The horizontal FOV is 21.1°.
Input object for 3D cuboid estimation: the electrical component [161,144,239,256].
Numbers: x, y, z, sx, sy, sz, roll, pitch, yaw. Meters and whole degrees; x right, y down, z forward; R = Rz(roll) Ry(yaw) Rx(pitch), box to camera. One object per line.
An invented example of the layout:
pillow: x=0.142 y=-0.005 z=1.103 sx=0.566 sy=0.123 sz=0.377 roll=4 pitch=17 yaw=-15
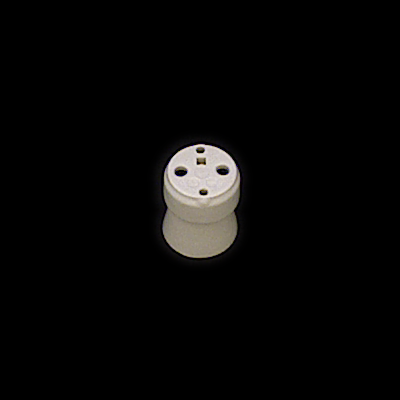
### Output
electrical component: x=0.000 y=0.000 z=0.630 sx=0.045 sy=0.044 sz=0.055 roll=0 pitch=-37 yaw=-1
